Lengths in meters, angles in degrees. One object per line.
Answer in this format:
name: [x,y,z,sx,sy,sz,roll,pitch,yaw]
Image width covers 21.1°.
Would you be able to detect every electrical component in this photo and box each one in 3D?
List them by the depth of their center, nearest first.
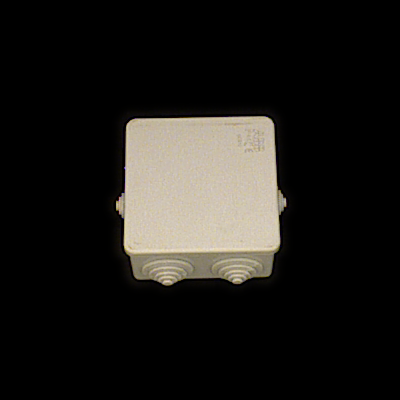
electrical component: [0.000,0.000,0.641,0.100,0.100,0.048,-1,-27,-1]
